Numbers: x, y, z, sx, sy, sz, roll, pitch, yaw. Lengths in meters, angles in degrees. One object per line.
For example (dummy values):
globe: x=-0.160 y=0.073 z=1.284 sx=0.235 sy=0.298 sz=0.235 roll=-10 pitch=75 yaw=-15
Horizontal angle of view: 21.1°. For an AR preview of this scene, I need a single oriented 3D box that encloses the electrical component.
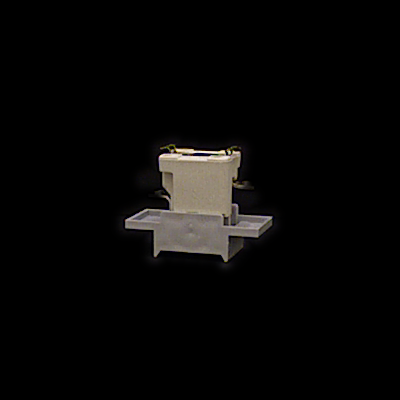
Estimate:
electrical component: x=0.000 y=0.000 z=0.643 sx=0.081 sy=0.064 sz=0.042 roll=4 pitch=12 yaw=14
